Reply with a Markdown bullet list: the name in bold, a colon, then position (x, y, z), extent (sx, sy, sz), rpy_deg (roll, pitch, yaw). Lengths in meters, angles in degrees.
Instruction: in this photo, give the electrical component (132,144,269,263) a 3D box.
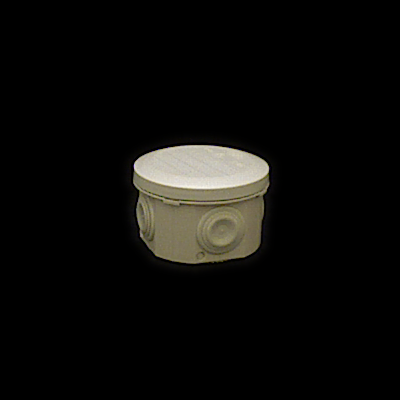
- **electrical component**: position (0.000, 0.000, 0.638), extent (0.080, 0.051, 0.079), rpy_deg (1, 21, 0)
